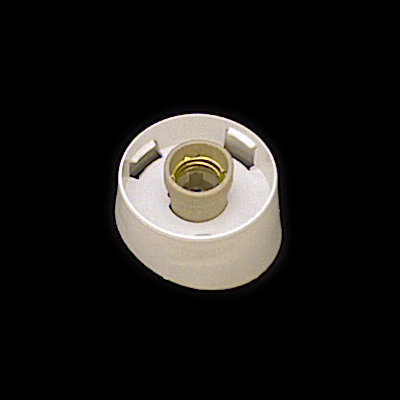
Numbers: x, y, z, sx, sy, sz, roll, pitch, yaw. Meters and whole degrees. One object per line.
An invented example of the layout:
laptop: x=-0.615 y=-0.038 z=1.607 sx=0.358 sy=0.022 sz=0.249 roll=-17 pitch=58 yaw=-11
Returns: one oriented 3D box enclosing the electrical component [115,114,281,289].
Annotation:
electrical component: x=0.000 y=0.000 z=0.626 sx=0.099 sy=0.098 sz=0.064 roll=0 pitch=-38 yaw=-1
